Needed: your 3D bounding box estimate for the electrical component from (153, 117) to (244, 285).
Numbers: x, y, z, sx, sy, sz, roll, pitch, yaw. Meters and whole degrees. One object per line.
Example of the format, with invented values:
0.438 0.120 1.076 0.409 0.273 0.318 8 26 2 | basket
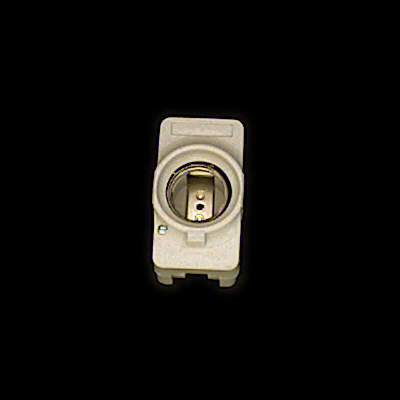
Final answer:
0.000 0.000 0.636 0.050 0.090 0.055 2 -16 1 | electrical component
